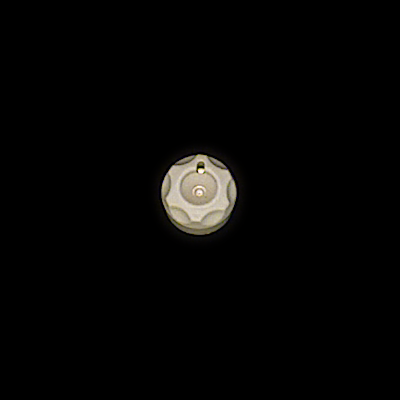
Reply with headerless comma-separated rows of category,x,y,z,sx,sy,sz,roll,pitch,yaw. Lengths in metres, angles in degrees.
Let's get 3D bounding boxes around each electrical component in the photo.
electrical component,0.000,0.000,0.633,0.043,0.043,0.061,0,-15,0
